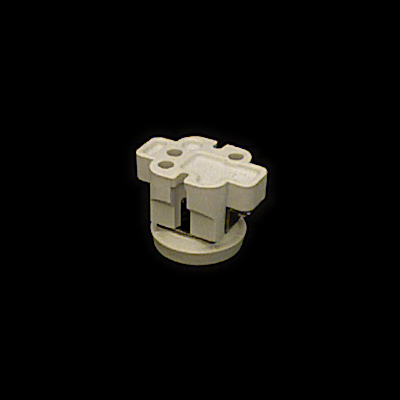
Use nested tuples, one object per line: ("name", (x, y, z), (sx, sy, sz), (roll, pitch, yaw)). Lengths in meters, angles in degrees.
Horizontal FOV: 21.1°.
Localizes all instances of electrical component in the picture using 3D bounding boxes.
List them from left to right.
("electrical component", (0.000, 0.000, 0.643), (0.078, 0.057, 0.057), (18, 35, 22))
